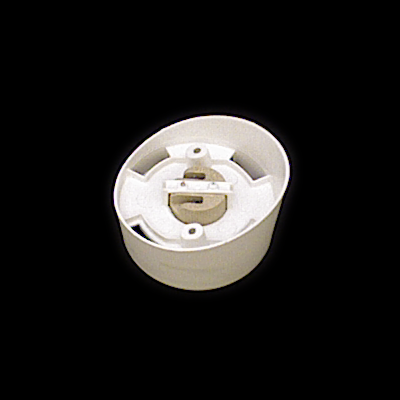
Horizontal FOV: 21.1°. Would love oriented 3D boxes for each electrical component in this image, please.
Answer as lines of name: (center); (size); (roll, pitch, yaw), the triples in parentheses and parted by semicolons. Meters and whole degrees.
electrical component: (0.000, 0.000, 0.626); (0.099, 0.098, 0.064); (0, -38, -2)
